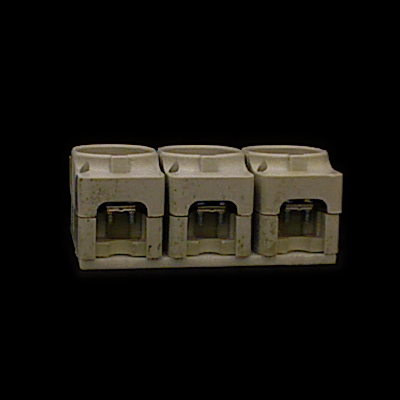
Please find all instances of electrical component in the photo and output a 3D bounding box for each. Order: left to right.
[{"bbox_3d":[0.000,0.000,0.649,0.150,0.062,0.088,-1,11,-10],"label":"electrical component"}]
